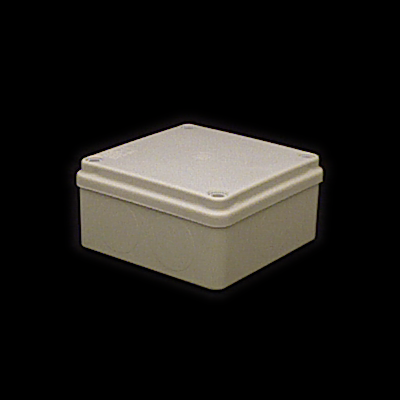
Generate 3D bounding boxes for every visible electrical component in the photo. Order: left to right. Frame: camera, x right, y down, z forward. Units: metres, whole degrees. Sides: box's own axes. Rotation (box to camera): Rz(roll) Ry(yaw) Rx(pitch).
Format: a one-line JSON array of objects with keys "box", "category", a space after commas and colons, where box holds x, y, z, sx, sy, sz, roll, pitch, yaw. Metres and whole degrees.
[{"box": [0.000, 0.000, 0.640, 0.108, 0.057, 0.108, 17, 26, 34], "category": "electrical component"}]
